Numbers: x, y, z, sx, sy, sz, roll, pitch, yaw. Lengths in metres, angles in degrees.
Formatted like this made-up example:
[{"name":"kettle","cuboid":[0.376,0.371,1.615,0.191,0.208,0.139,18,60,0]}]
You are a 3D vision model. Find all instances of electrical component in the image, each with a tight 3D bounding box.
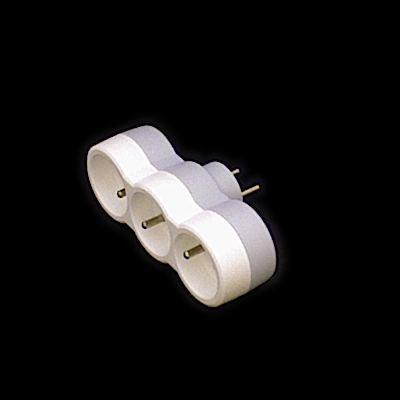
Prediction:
[{"name":"electrical component","cuboid":[0.000,0.000,0.635,0.074,0.052,0.137,-26,48,-29]}]
